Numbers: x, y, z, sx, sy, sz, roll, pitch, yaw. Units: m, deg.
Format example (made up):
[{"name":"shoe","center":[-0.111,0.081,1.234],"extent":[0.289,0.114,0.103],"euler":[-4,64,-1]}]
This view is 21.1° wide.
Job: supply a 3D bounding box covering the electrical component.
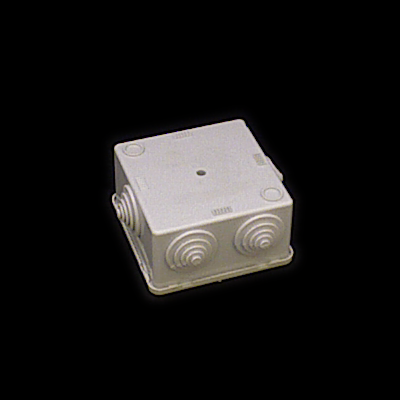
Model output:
[{"name":"electrical component","center":[0.000,0.000,0.635],"extent":[0.100,0.049,0.098],"euler":[-13,44,-14]}]
